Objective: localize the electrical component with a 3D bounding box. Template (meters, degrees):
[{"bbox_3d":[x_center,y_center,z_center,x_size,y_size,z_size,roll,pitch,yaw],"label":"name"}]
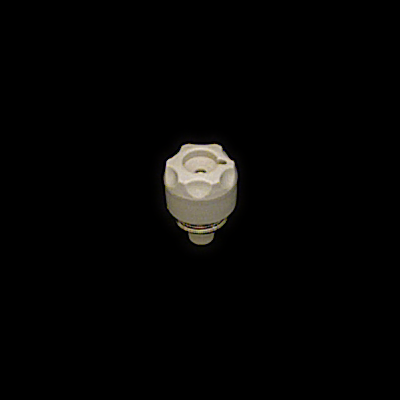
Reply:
[{"bbox_3d":[0.000,0.000,0.637,0.043,0.062,0.043,0,43,1],"label":"electrical component"}]
